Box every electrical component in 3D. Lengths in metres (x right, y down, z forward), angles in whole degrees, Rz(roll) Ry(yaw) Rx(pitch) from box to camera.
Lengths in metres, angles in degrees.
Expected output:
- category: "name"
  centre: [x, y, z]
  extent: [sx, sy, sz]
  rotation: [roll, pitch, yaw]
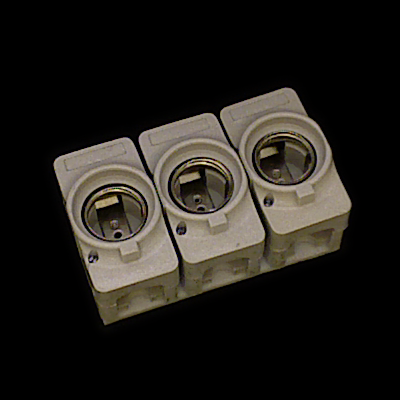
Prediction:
- category: "electrical component"
  centre: [0.000, 0.000, 0.631]
  extent: [0.150, 0.089, 0.062]
  rotation: [-18, -25, -9]
